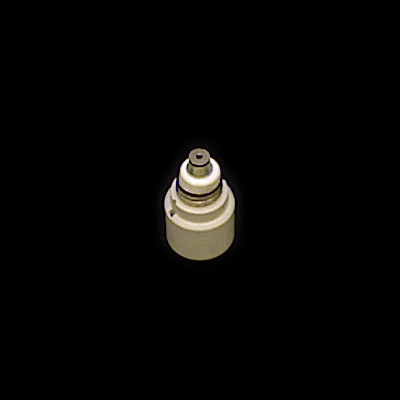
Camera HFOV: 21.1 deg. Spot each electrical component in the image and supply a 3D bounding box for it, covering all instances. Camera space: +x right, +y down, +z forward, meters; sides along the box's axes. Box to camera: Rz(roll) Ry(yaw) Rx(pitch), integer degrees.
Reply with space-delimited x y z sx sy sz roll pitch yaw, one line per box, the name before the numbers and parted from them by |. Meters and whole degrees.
electrical component | 0.000 0.000 0.621 0.040 0.040 0.079 0 -37 0
